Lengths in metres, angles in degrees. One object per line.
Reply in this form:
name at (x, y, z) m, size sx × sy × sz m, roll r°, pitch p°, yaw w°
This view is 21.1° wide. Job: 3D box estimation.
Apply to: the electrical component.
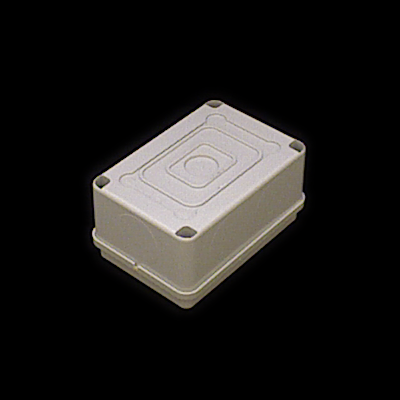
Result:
electrical component at (0.000, 0.000, 0.631) m, size 0.077 × 0.057 × 0.113 m, roll 30°, pitch 50°, yaw 29°
